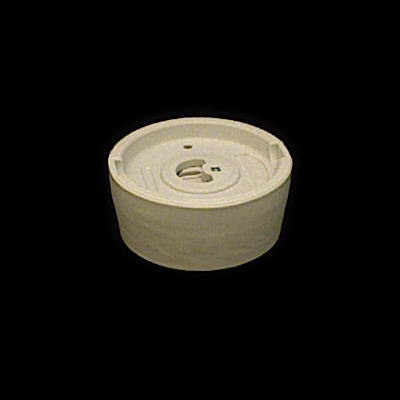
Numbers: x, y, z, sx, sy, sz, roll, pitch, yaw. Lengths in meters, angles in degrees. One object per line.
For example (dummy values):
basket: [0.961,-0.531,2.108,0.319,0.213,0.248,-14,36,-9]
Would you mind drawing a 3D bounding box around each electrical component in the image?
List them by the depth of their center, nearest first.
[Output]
electrical component: [0.000,0.000,0.644,0.108,0.061,0.106,1,32,0]
